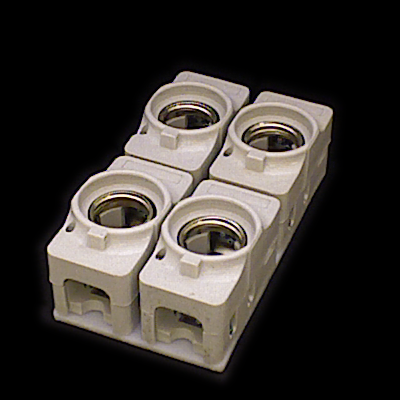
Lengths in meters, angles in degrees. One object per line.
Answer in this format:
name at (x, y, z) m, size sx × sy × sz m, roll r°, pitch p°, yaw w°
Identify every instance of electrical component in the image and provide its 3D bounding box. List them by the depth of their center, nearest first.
electrical component at (0.000, 0.000, 0.629) m, size 0.105 × 0.061 × 0.185 m, roll 16°, pitch 44°, yaw 16°
